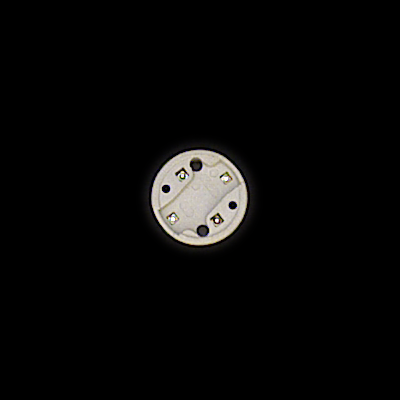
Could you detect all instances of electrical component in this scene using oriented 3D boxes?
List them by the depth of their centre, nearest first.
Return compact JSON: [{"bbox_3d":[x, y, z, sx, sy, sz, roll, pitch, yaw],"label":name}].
[{"bbox_3d":[0.000,0.000,0.636,0.055,0.055,0.047,0,-6,0],"label":"electrical component"}]
